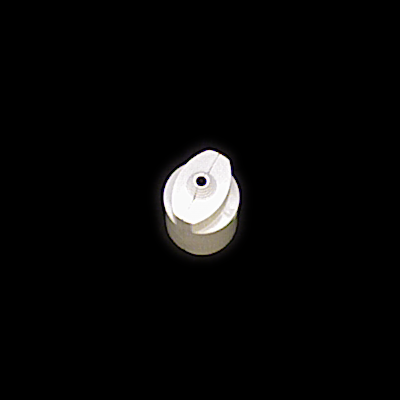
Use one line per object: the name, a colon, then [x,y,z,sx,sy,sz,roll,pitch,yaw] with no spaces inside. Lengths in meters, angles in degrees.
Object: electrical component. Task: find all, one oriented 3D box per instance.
electrical component: [0.000,0.000,0.616,0.043,0.043,0.080,0,-17,0]
